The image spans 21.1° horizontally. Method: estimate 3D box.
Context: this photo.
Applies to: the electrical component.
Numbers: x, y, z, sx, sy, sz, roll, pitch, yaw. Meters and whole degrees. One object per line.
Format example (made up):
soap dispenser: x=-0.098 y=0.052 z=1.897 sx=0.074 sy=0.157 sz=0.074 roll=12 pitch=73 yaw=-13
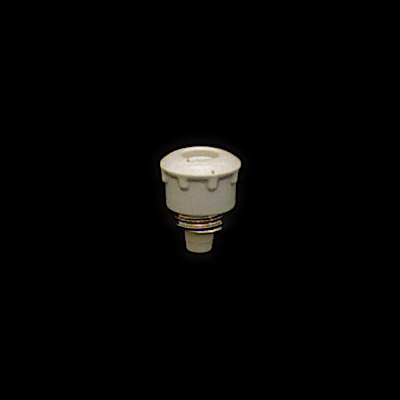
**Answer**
electrical component: x=0.000 y=0.000 z=0.645 sx=0.048 sy=0.062 sz=0.047 roll=1 pitch=22 yaw=0
